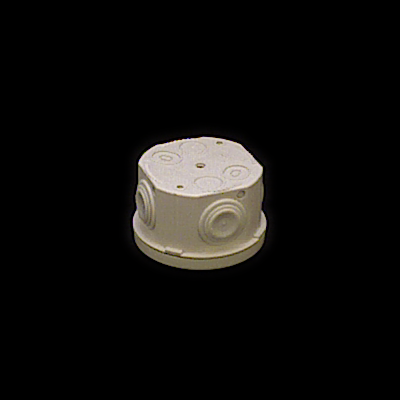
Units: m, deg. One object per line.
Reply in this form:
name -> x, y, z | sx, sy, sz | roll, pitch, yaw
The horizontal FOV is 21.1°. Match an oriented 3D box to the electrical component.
electrical component -> 0.000, 0.000, 0.638 | 0.080, 0.051, 0.079 | 1, 31, 0
